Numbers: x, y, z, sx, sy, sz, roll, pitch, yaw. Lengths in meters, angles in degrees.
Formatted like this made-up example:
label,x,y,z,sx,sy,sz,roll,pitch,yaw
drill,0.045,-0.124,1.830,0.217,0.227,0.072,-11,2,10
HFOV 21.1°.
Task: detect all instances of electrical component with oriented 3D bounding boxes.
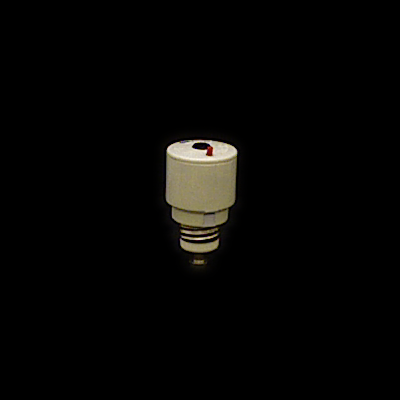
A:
label,x,y,z,sx,sy,sz,roll,pitch,yaw
electrical component,0.000,0.000,0.633,0.040,0.079,0.039,1,22,0
